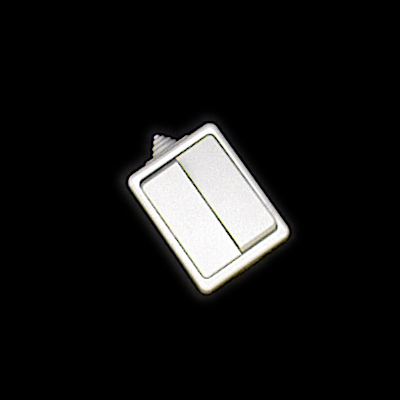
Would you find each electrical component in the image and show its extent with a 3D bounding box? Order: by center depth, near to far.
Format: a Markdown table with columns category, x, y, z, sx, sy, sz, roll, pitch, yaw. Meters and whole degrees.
| category | x | y | z | sx | sy | sz | roll | pitch | yaw |
| --- | --- | --- | --- | --- | --- | --- | --- | --- | --- |
| electrical component | 0.000 | 0.000 | 0.627 | 0.062 | 0.096 | 0.061 | -34 | -6 | -3 |
